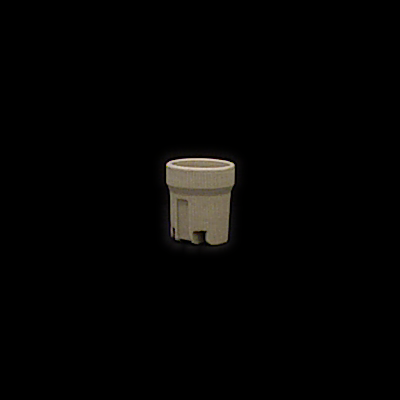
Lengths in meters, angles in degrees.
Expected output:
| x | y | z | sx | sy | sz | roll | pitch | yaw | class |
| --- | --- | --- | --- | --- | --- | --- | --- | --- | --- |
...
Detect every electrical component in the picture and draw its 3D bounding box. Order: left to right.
| x | y | z | sx | sy | sz | roll | pitch | yaw | class |
| --- | --- | --- | --- | --- | --- | --- | --- | --- | --- |
| 0.000 | 0.000 | 0.642 | 0.040 | 0.046 | 0.040 | 1 | 11 | 0 | electrical component |
